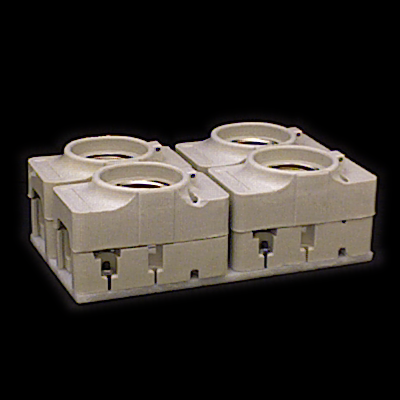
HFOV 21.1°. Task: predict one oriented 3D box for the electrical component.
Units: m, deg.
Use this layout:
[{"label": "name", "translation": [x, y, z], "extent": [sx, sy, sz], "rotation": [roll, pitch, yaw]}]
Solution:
[{"label": "electrical component", "translation": [0.000, 0.000, 0.640], "extent": [0.186, 0.061, 0.104], "rotation": [-7, 22, -21]}]
